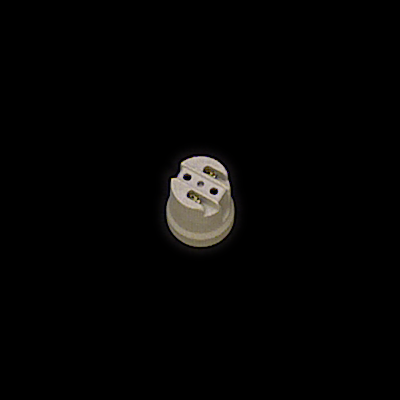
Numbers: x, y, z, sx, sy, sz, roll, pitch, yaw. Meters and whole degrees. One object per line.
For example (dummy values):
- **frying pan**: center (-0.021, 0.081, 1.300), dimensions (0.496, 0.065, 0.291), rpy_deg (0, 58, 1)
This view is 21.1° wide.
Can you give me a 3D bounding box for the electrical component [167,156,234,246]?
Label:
- **electrical component**: center (0.000, 0.000, 0.632), dimensions (0.040, 0.040, 0.046), rpy_deg (0, -27, 0)
